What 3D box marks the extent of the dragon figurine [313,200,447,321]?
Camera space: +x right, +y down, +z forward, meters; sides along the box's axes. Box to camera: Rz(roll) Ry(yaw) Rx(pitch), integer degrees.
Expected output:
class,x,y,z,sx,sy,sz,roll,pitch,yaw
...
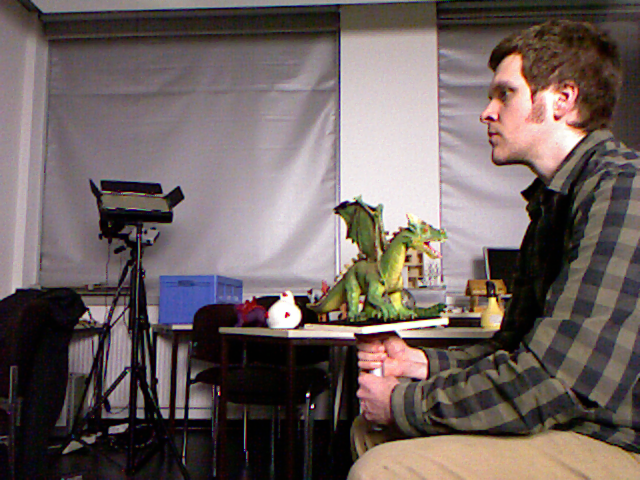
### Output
class,x,y,z,sx,sy,sz,roll,pitch,yaw
dragon figurine,0.083,0.040,1.021,0.123,0.243,0.408,-6,-3,-38
